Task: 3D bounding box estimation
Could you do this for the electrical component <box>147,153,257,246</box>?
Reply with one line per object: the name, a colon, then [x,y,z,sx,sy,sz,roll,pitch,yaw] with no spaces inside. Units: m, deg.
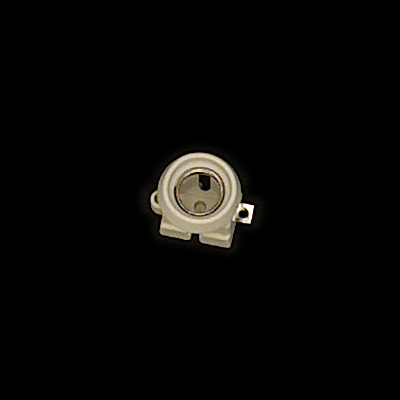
electrical component: [0.000,0.000,0.638,0.066,0.048,0.055,10,-14,3]
